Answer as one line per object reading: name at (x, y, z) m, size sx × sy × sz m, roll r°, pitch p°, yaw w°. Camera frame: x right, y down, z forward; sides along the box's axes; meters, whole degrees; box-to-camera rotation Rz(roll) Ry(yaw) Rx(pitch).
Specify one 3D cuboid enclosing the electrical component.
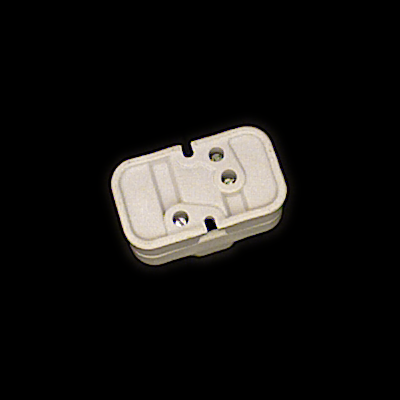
electrical component at (0.000, 0.000, 0.636) m, size 0.095 × 0.054 × 0.059 m, roll -17°, pitch -15°, yaw -4°
